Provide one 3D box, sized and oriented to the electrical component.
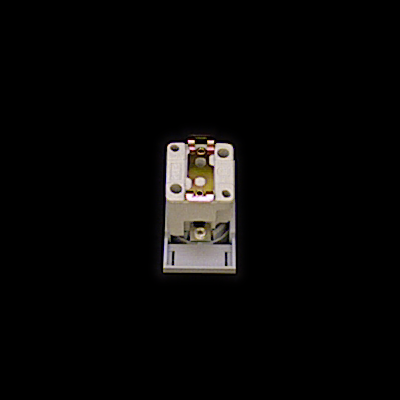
[{"bbox_3d":[0.000,0.000,0.627,0.042,0.080,0.064,0,-38,0],"label":"electrical component"}]
